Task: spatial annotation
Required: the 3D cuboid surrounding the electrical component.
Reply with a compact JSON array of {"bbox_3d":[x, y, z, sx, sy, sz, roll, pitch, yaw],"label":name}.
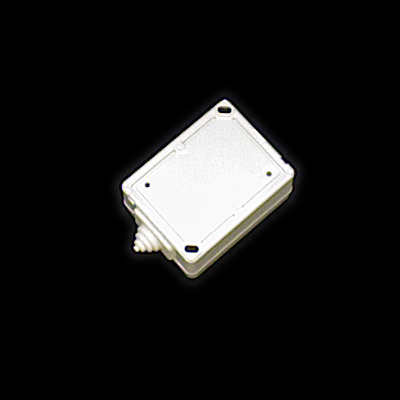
[{"bbox_3d":[0.000,0.000,0.623,0.097,0.062,0.060,-41,-12,-11],"label":"electrical component"}]
